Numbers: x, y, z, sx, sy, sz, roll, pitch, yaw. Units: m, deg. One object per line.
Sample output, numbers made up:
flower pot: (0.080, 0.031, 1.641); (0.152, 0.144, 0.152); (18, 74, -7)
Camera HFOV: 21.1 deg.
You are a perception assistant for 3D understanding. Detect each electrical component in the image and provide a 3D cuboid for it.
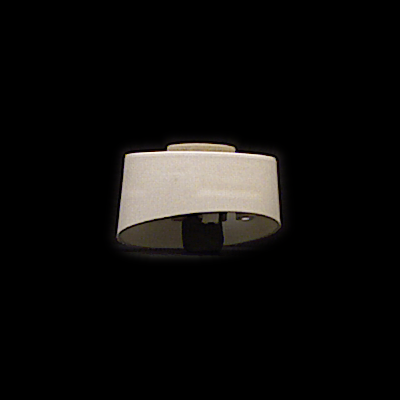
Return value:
electrical component: (0.000, 0.000, 0.649); (0.099, 0.064, 0.099); (1, -1, 0)
